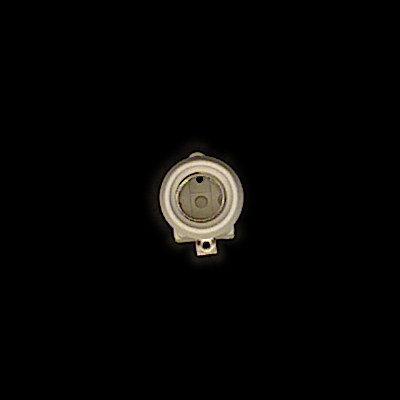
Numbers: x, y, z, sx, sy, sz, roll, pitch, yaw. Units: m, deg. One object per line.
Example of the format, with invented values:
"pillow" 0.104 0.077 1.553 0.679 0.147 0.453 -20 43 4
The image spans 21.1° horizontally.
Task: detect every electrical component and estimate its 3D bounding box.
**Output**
"electrical component" 0.000 0.000 0.639 0.048 0.066 0.055 -7 -6 2
